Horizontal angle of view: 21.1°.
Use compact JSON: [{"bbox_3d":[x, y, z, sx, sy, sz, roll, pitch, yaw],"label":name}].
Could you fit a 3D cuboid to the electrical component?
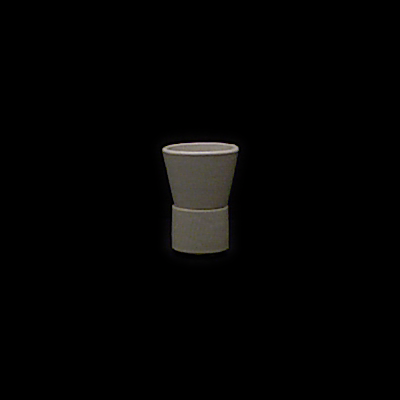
[{"bbox_3d":[0.000,0.000,0.642,0.044,0.066,0.044,1,12,0],"label":"electrical component"}]
